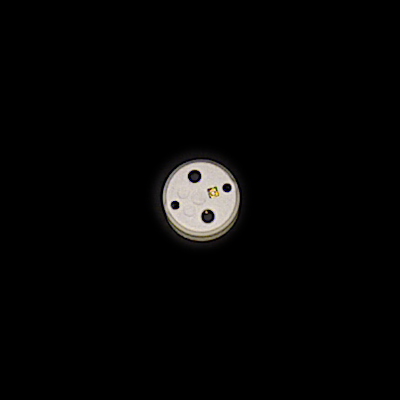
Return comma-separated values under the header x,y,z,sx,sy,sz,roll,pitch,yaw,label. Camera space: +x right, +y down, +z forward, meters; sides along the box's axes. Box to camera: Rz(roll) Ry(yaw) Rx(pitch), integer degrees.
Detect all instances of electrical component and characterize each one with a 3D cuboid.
x,y,z,sx,sy,sz,roll,pitch,yaw,label
0.000,0.000,0.629,0.045,0.045,0.055,0,-6,1,electrical component
